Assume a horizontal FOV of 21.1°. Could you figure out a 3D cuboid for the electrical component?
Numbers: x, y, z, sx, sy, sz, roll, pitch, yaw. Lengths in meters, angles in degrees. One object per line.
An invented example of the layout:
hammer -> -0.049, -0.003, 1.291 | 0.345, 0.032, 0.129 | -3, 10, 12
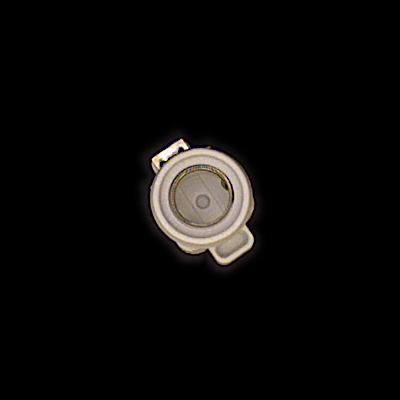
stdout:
electrical component -> 0.000, 0.000, 0.630 | 0.058, 0.078, 0.056 | -35, -5, -3
